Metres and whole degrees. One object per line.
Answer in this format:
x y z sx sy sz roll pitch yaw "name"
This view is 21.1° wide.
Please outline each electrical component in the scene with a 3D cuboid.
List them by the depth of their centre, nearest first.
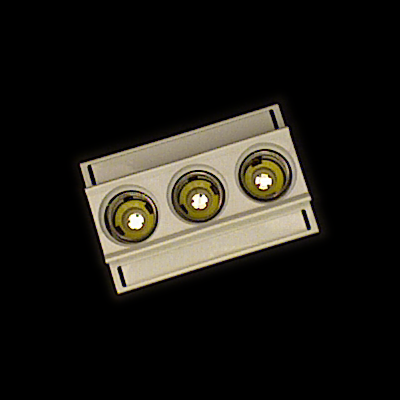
0.000 0.000 0.637 0.121 0.079 0.063 -17 -7 -1 "electrical component"
